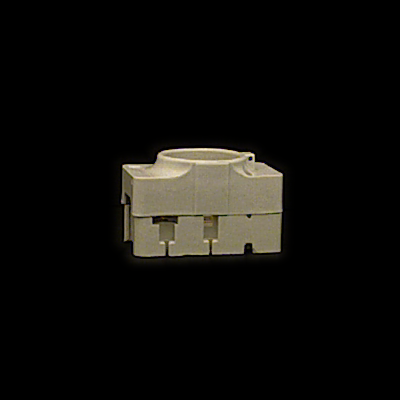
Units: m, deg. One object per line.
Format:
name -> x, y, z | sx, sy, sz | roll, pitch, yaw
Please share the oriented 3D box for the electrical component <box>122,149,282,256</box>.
electrical component -> 0.000, 0.000, 0.651 | 0.090, 0.056, 0.049 | -2, 12, -15
